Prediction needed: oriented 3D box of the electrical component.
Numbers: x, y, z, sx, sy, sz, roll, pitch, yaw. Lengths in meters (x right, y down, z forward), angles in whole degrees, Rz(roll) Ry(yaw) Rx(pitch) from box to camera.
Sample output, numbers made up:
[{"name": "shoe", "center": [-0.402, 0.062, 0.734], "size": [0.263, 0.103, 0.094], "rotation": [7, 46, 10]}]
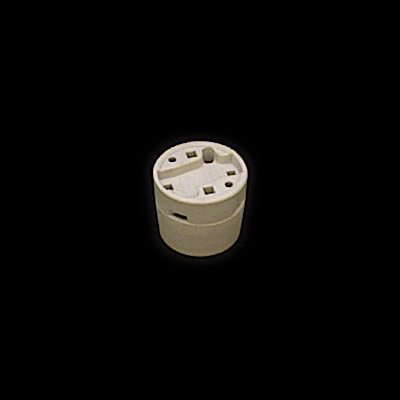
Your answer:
[{"name": "electrical component", "center": [0.000, 0.000, 0.635], "size": [0.055, 0.047, 0.055], "rotation": [1, 42, 0]}]
